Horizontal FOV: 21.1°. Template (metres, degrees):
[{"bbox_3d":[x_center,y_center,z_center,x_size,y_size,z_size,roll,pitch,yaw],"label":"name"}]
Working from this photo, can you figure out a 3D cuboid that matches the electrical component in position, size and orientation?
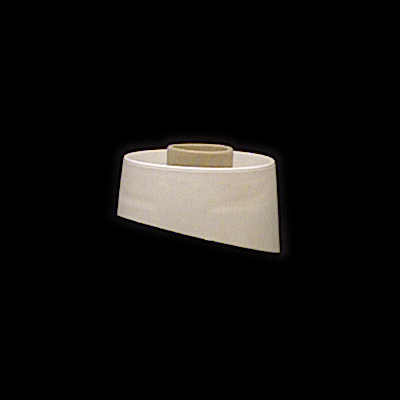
[{"bbox_3d":[0.000,0.000,0.643,0.099,0.064,0.098,2,10,0],"label":"electrical component"}]
